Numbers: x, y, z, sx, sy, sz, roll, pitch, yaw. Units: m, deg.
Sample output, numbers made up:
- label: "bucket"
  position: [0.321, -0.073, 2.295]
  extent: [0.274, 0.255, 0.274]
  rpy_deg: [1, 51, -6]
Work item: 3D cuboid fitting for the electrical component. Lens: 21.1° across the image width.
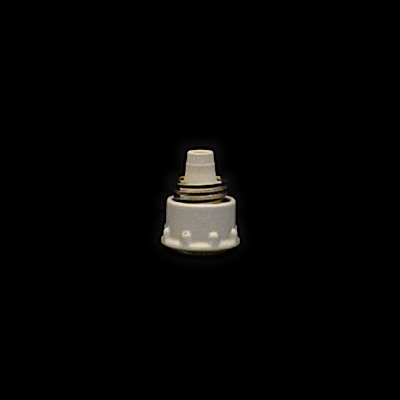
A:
- label: "electrical component"
  position: [0.000, 0.000, 0.649]
  extent: [0.048, 0.062, 0.048]
  rpy_deg: [0, 12, 1]
